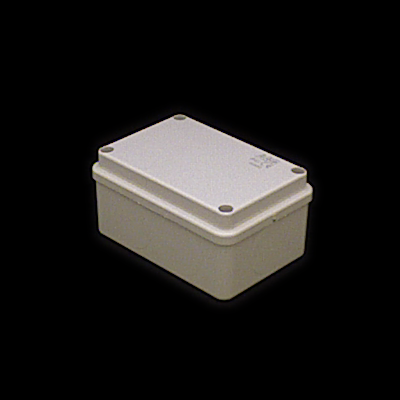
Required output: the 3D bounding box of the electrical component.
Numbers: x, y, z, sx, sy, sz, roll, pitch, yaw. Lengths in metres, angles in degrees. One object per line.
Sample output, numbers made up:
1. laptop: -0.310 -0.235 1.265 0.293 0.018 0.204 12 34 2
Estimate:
1. electrical component: 0.000 0.000 0.636 0.112 0.058 0.078 27 40 36
